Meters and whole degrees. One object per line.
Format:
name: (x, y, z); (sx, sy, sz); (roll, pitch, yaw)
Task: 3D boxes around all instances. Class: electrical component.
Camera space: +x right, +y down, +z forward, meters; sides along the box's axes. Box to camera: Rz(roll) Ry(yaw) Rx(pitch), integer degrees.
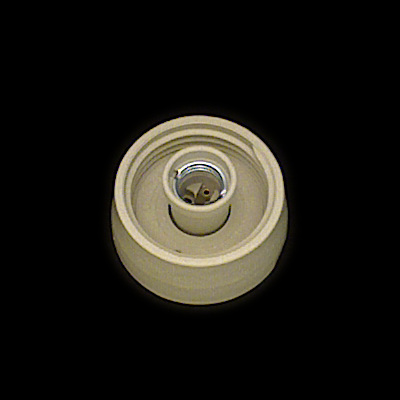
electrical component: (0.000, 0.000, 0.634); (0.108, 0.108, 0.060); (0, -27, 0)
